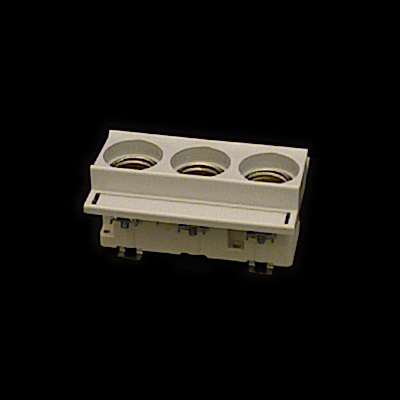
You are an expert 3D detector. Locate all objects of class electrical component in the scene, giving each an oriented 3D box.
[{"bbox_3d":[0.000,0.000,0.645,0.121,0.064,0.077,6,34,9],"label":"electrical component"}]
